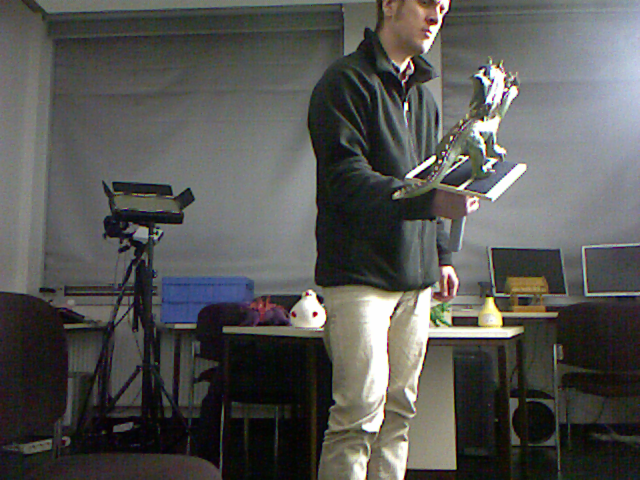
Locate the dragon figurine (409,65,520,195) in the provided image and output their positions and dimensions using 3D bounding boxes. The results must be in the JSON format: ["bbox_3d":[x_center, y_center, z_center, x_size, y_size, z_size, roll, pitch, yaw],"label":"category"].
[{"bbox_3d":[0.329,-0.259,1.115,0.123,0.238,0.417,26,39,32],"label":"dragon figurine"}]
